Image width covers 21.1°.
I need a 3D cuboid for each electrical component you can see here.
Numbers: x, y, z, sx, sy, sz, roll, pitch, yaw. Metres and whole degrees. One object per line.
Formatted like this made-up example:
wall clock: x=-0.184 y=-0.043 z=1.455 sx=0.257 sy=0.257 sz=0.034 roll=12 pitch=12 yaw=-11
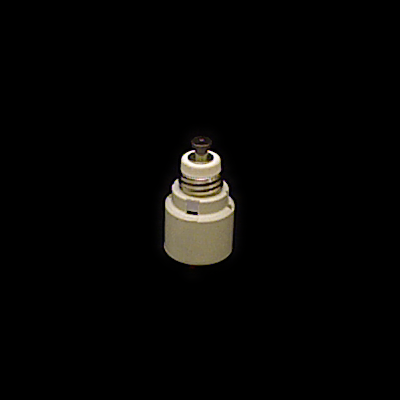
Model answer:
electrical component: x=0.000 y=0.000 z=0.630 sx=0.040 sy=0.079 sz=0.039 roll=2 pitch=31 yaw=-1
